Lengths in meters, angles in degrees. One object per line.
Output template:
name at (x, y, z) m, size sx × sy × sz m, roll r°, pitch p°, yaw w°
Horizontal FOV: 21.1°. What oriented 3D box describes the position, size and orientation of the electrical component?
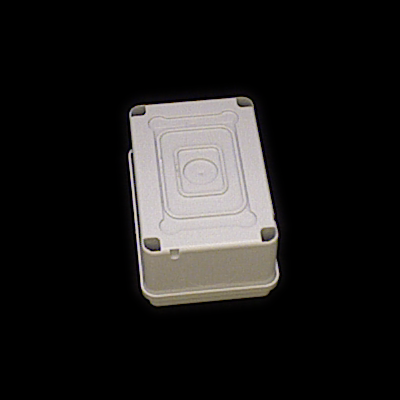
electrical component at (0.000, 0.000, 0.629) m, size 0.078 × 0.112 × 0.057 m, roll -5°, pitch -38°, yaw -4°
